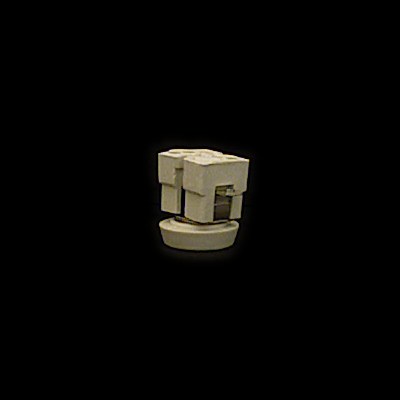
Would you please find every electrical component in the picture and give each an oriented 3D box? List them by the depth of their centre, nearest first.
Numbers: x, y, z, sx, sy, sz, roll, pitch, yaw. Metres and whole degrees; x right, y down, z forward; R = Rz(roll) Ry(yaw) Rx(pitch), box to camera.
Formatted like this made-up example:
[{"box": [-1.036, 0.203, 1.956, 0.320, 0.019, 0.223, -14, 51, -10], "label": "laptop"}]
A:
[{"box": [0.000, 0.000, 0.651, 0.049, 0.056, 0.065, -7, 15, -38], "label": "electrical component"}]
